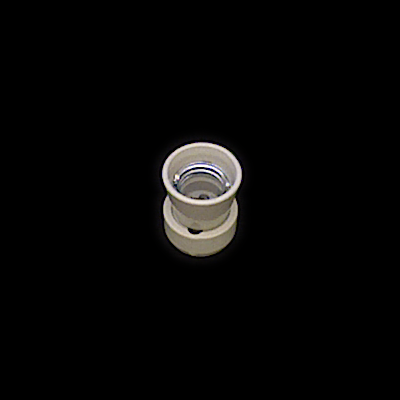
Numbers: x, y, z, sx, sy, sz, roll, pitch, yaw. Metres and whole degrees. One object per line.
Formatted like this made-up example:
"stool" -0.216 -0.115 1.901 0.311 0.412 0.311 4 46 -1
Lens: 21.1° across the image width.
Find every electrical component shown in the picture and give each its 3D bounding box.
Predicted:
"electrical component" 0.000 0.000 0.631 0.045 0.044 0.055 0 -37 -1
